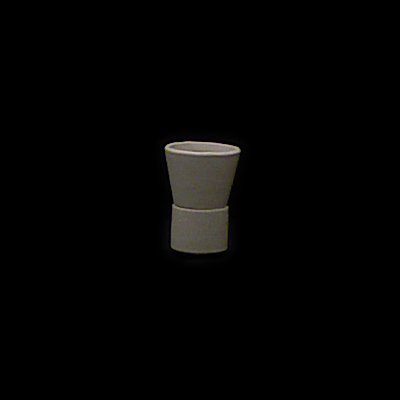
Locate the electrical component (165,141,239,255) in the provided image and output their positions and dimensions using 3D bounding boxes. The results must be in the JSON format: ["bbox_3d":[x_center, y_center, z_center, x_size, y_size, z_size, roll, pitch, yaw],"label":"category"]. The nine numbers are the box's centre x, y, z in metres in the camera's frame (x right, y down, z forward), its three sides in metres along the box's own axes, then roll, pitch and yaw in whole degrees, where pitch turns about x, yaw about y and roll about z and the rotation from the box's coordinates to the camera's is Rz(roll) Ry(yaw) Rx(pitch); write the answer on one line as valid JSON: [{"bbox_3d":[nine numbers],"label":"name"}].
[{"bbox_3d":[0.000,0.000,0.643,0.044,0.066,0.044,2,12,0],"label":"electrical component"}]
